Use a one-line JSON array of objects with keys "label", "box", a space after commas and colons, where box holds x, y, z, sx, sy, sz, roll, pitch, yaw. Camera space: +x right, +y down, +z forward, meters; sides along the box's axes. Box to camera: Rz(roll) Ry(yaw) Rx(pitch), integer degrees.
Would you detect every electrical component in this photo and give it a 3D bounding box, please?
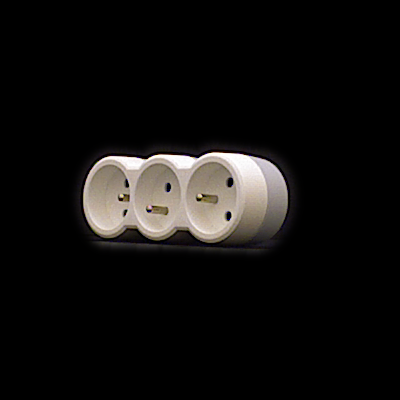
[{"label": "electrical component", "box": [0.000, 0.000, 0.652, 0.137, 0.052, 0.074, 0, -2, 44]}]
